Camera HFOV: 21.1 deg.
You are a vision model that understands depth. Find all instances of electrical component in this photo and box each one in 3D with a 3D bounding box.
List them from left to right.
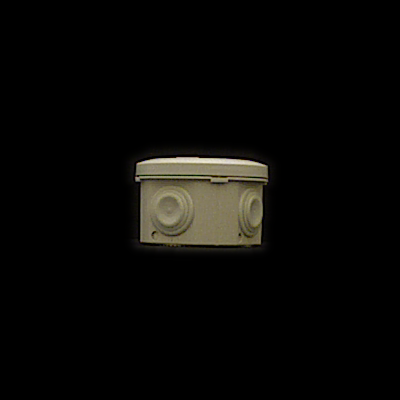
[{"bbox_3d":[0.000,0.000,0.651,0.080,0.051,0.080,1,0,0],"label":"electrical component"}]
